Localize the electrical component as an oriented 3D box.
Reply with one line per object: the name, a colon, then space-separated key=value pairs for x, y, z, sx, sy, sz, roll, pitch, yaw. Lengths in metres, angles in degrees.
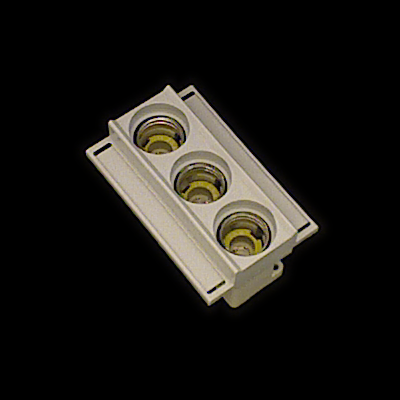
electrical component: x=0.000 y=0.000 z=0.638 sx=0.079 sy=0.121 sz=0.063 roll=-33 pitch=-22 yaw=-17
